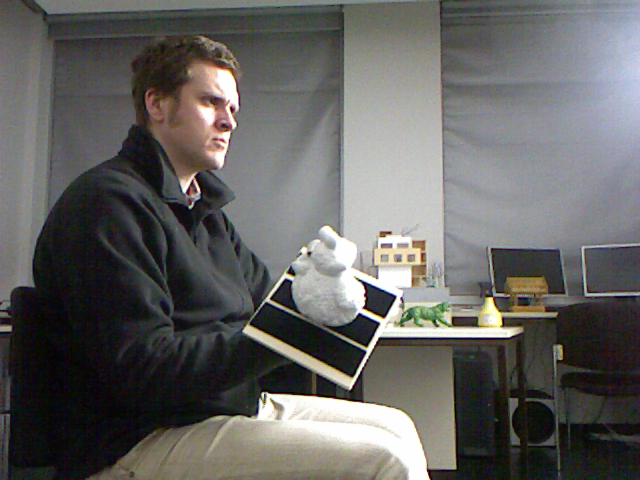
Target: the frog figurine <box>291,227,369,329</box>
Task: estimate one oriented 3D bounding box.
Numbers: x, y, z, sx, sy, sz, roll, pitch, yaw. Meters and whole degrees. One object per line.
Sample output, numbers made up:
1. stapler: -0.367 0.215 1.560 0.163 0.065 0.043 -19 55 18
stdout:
1. frog figurine: 0.015 0.064 0.820 0.124 0.139 0.156 -35 -28 -20
